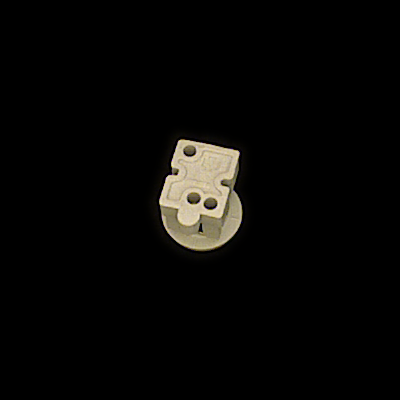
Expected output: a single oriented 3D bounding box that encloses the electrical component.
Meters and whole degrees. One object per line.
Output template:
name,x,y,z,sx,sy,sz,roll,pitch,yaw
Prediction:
electrical component,0.000,0.000,0.637,0.048,0.067,0.055,13,-27,8
